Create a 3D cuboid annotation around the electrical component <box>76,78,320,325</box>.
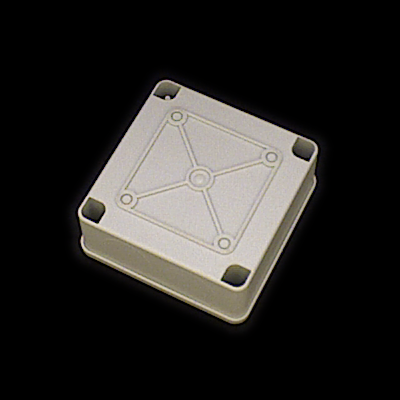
[{"bbox_3d":[0.000,0.000,0.628,0.108,0.109,0.056,24,-25,12],"label":"electrical component"}]
